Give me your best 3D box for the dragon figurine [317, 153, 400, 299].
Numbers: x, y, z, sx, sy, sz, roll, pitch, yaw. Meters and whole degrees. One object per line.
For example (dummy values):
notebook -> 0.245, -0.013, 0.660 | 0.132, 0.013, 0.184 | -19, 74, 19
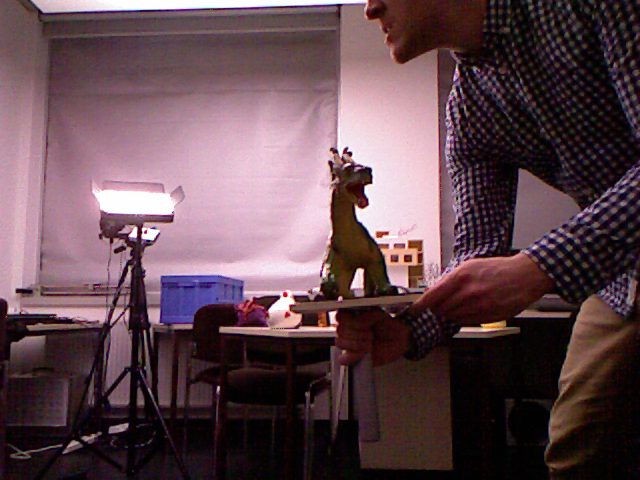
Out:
dragon figurine -> 0.039, -0.023, 0.832 | 0.122, 0.245, 0.407 | -7, -9, -5
